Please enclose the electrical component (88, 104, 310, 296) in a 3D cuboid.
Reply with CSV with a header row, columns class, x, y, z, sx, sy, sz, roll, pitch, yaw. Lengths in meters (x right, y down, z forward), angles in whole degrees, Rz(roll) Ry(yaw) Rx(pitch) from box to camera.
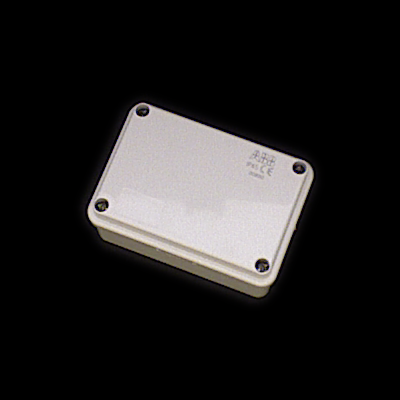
class,x,y,z,sx,sy,sz,roll,pitch,yaw
electrical component,0.000,0.000,0.628,0.113,0.078,0.057,20,-16,6
